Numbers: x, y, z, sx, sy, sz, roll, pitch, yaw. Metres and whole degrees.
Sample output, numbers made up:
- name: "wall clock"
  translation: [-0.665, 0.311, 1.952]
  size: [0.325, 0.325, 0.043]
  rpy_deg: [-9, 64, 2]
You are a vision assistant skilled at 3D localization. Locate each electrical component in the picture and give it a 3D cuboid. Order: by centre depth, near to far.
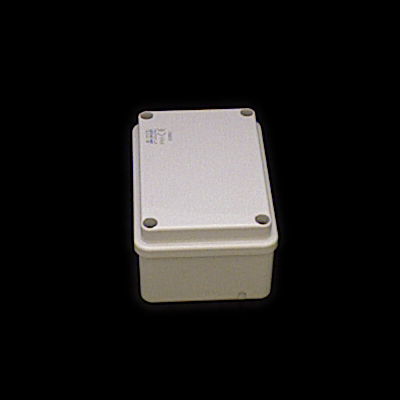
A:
- name: "electrical component"
  translation: [0.000, 0.000, 0.631]
  size: [0.078, 0.057, 0.112]
  rpy_deg: [-2, 42, -3]
